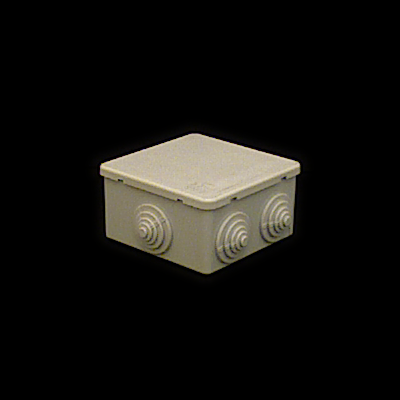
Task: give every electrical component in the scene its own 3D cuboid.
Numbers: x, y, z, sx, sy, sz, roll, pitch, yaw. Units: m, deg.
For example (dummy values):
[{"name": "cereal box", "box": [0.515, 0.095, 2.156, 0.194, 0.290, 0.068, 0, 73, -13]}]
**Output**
[{"name": "electrical component", "box": [0.000, 0.000, 0.647, 0.098, 0.049, 0.100, 19, 28, 37]}]
